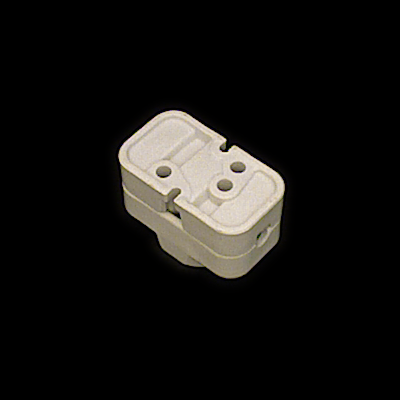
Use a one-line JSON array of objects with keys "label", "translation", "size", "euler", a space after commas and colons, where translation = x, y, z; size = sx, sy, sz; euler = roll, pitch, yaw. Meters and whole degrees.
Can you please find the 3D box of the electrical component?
[{"label": "electrical component", "translation": [0.000, 0.000, 0.637], "size": [0.094, 0.054, 0.059], "euler": [34, -30, 23]}]
